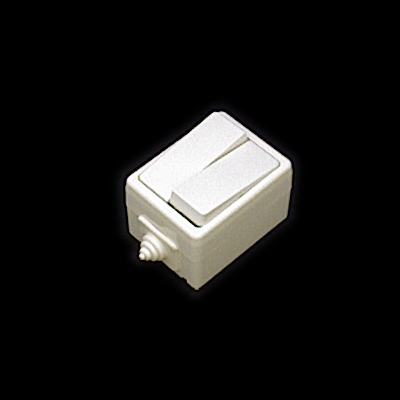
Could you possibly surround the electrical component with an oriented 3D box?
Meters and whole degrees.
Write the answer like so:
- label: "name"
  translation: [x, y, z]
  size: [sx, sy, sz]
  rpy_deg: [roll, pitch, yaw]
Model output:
- label: "electrical component"
  translation: [0.000, 0.000, 0.627]
  size: [0.096, 0.061, 0.061]
  rpy_deg: [-37, 61, -26]
